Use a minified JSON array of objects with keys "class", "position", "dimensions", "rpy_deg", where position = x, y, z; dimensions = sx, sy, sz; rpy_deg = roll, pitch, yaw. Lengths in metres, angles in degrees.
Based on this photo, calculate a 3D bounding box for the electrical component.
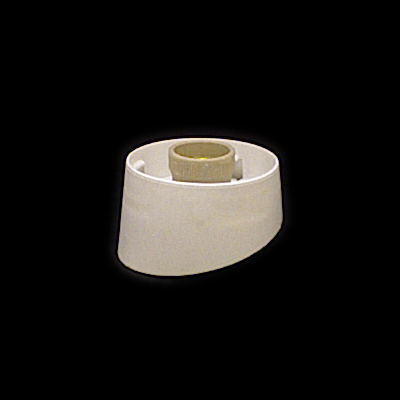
[{"class":"electrical component","position":[0.000,0.000,0.639],"dimensions":[0.099,0.065,0.097],"rpy_deg":[1,21,0]}]
